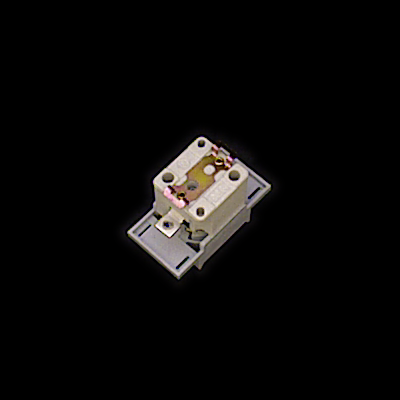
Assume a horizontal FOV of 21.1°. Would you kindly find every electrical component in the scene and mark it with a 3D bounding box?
[{"bbox_3d":[0.000,0.000,0.626,0.042,0.081,0.063,39,-21,18],"label":"electrical component"}]
